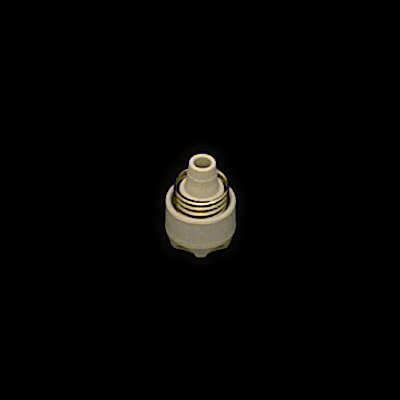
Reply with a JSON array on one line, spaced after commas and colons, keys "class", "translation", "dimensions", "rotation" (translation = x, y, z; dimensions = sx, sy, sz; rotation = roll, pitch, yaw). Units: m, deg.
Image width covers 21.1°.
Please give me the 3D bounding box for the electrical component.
[{"class": "electrical component", "translation": [0.000, 0.000, 0.637], "dimensions": [0.043, 0.062, 0.043], "rotation": [1, 43, -1]}]
